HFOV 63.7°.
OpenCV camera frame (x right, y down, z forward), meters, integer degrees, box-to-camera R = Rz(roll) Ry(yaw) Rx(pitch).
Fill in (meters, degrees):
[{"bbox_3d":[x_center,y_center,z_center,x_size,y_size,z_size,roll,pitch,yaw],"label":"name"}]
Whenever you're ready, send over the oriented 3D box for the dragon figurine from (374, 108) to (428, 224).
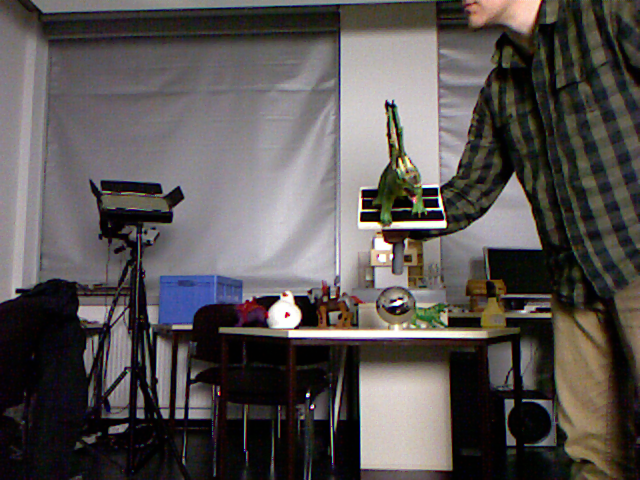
[{"bbox_3d":[0.183,-0.196,1.214,0.122,0.237,0.420,-6,38,-1],"label":"dragon figurine"}]
